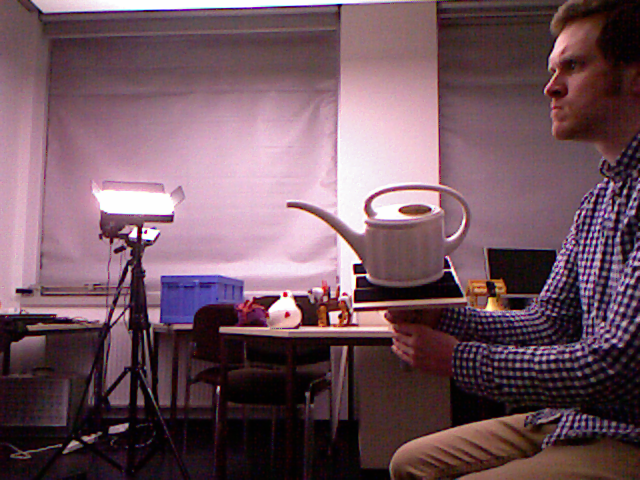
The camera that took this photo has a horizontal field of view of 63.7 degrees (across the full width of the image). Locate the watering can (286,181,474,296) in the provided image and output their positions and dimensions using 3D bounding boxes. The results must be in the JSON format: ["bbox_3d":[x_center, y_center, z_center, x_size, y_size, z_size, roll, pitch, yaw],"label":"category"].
[{"bbox_3d":[0.116,-0.002,0.977,0.348,0.221,0.106,-4,23,0],"label":"watering can"}]
